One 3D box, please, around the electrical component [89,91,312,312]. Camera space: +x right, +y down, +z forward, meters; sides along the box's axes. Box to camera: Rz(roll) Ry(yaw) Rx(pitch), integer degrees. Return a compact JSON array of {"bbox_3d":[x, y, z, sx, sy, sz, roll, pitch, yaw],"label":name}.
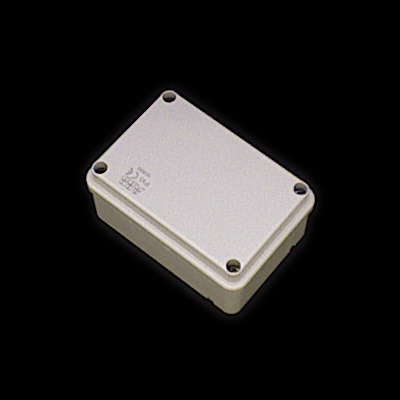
[{"bbox_3d":[0.000,0.000,0.626,0.113,0.078,0.057,36,-22,16],"label":"electrical component"}]
